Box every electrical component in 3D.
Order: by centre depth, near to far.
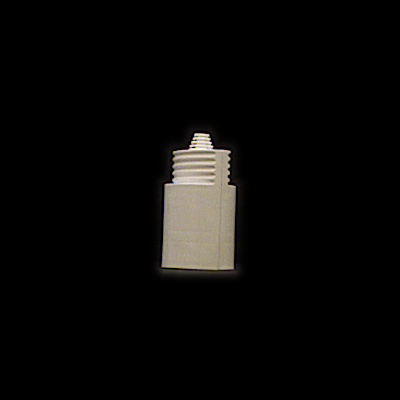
[{"bbox_3d":[0.000,0.000,0.649,0.043,0.081,0.043,1,1,0],"label":"electrical component"}]
